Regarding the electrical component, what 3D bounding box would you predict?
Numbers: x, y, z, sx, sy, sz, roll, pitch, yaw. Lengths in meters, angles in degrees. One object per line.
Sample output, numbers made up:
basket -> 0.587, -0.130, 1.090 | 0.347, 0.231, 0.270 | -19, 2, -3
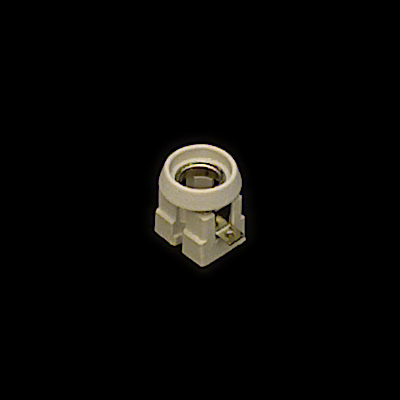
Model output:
electrical component -> 0.000, 0.000, 0.640 | 0.048, 0.056, 0.066 | -35, 53, -30
